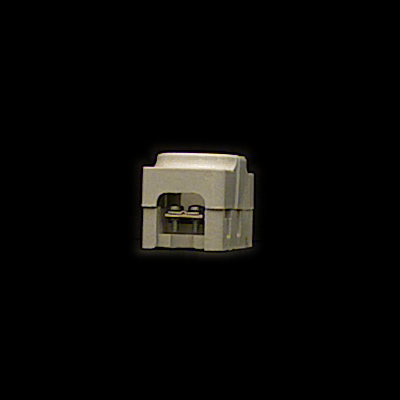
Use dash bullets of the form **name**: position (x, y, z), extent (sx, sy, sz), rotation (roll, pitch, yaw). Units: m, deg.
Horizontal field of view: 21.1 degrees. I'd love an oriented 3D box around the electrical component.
- **electrical component**: position (0.000, 0.000, 0.657), extent (0.050, 0.056, 0.090), rotation (2, 1, 14)
